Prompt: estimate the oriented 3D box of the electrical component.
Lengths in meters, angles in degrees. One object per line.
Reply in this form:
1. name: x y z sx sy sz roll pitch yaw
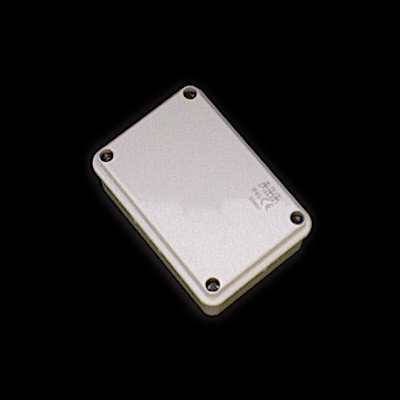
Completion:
1. electrical component: 0.000 0.000 0.627 0.078 0.113 0.057 -38 -13 -10
